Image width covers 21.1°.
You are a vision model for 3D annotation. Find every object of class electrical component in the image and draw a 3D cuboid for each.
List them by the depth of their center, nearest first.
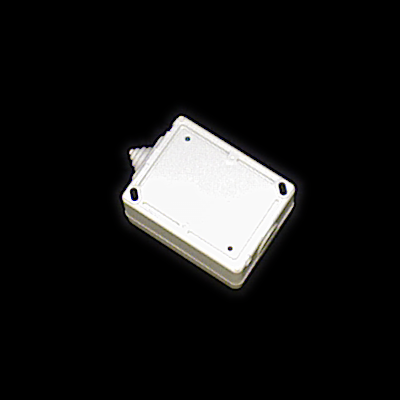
[{"bbox_3d":[0.000,0.000,0.626,0.096,0.062,0.061,32,-14,9],"label":"electrical component"}]
